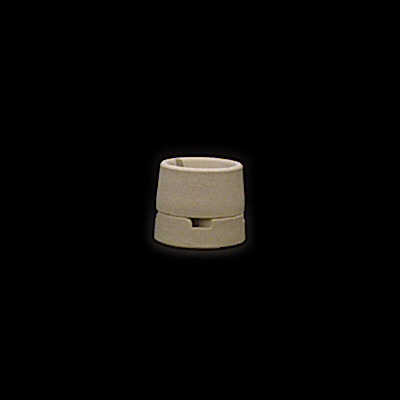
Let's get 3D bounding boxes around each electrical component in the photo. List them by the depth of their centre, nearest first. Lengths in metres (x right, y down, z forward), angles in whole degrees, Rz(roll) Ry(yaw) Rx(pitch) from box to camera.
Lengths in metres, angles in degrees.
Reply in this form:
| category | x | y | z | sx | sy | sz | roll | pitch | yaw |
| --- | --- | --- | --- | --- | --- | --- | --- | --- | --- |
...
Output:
| category | x | y | z | sx | sy | sz | roll | pitch | yaw |
| --- | --- | --- | --- | --- | --- | --- | --- | --- | --- |
| electrical component | 0.000 | 0.000 | 0.644 | 0.055 | 0.047 | 0.055 | 2 | 12 | 0 |
